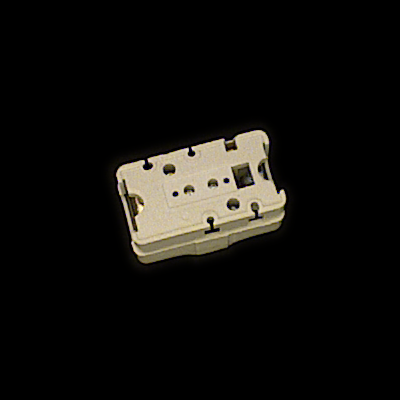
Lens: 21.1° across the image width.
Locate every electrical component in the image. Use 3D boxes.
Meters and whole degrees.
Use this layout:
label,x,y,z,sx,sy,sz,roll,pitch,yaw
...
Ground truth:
label,x,y,z,sx,sy,sz,roll,pitch,yaw
electrical component,0.000,0.000,0.636,0.090,0.050,0.055,-15,-16,-4
